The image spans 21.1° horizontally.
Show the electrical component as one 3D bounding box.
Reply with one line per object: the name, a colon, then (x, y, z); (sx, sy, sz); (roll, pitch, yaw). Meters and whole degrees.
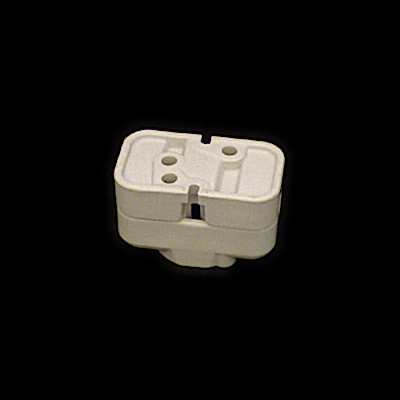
electrical component: (0.000, 0.000, 0.636); (0.095, 0.060, 0.053); (6, 43, 5)
